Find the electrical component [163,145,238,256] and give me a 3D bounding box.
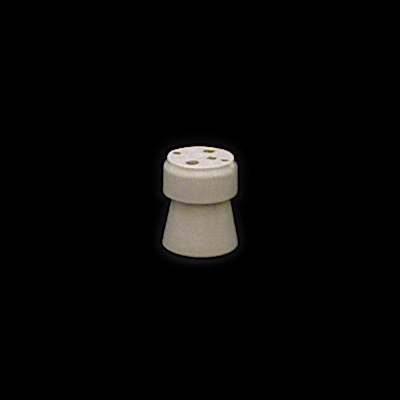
[{"bbox_3d":[0.000,0.000,0.638,0.045,0.056,0.044,0,21,0],"label":"electrical component"}]
